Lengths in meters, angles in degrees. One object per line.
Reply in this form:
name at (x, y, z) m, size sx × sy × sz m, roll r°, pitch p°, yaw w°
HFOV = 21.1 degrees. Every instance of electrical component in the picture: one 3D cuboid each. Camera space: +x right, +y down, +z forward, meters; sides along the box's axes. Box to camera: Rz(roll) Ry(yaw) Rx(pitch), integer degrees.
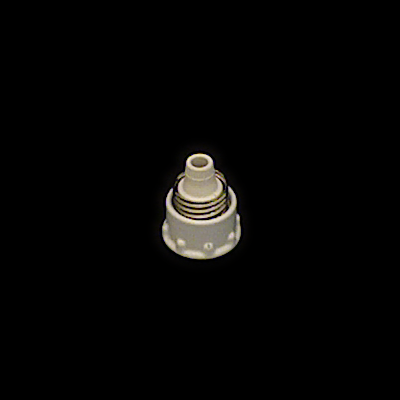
electrical component at (0.000, 0.000, 0.637) m, size 0.048 × 0.062 × 0.047 m, roll 0°, pitch 42°, yaw 1°
